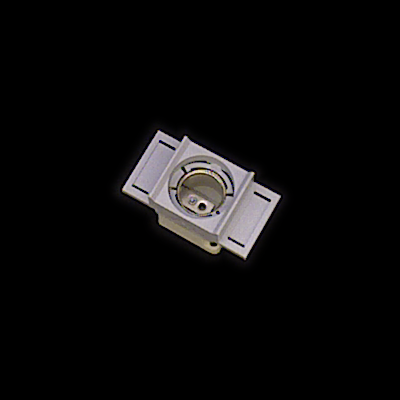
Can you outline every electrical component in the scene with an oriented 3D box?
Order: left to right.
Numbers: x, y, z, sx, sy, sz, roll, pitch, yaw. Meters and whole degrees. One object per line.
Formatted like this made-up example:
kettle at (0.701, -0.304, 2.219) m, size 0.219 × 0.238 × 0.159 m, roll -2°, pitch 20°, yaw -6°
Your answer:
electrical component at (0.000, 0.000, 0.624) m, size 0.081 × 0.042 × 0.063 m, roll 29°, pitch -13°, yaw 8°
